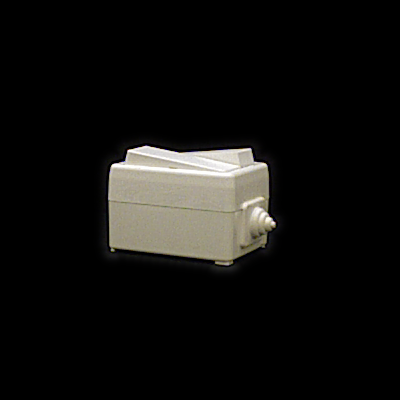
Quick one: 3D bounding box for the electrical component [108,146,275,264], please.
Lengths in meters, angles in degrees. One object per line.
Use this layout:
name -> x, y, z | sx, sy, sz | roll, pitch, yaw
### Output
electrical component -> 0.000, 0.000, 0.643 | 0.096, 0.061, 0.061 | 6, 11, 24
